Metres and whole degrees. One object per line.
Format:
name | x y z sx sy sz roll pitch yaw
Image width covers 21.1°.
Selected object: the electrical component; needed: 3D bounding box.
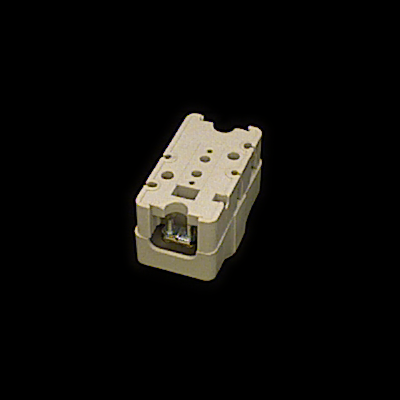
electrical component | 0.000 0.000 0.639 0.050 0.056 0.089 15 45 14
